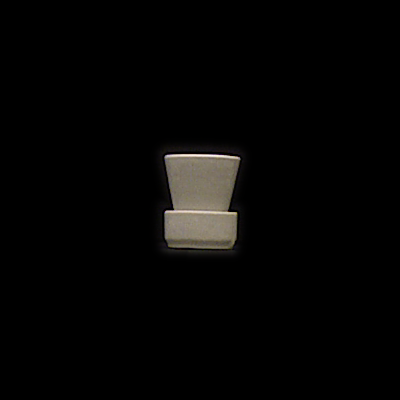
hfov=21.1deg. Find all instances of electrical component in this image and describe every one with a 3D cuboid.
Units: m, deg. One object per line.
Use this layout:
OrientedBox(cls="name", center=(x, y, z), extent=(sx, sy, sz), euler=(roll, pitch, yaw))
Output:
OrientedBox(cls="electrical component", center=(0.000, 0.000, 0.651), extent=(0.045, 0.055, 0.045), euler=(2, 1, 0))
